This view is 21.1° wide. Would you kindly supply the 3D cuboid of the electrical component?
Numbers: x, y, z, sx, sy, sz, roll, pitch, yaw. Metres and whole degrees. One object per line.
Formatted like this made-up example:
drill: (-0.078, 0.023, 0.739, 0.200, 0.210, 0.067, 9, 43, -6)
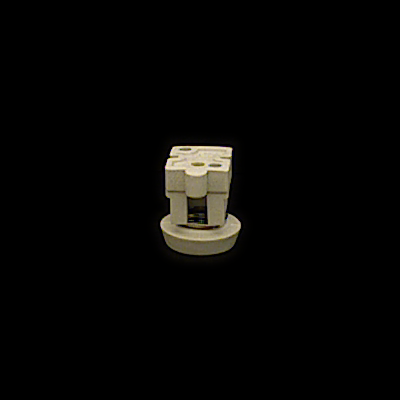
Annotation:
electrical component: (0.000, 0.000, 0.646, 0.048, 0.056, 0.066, 1, 21, 4)
